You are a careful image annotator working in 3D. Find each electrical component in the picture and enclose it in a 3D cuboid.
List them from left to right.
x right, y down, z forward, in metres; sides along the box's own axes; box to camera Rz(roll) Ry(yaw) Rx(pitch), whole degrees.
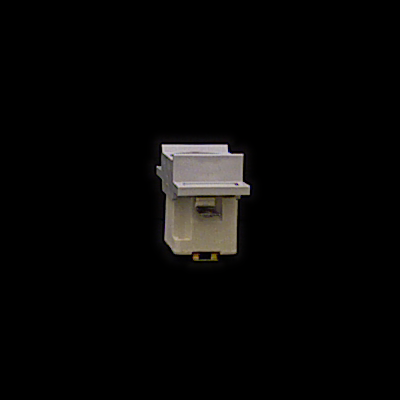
[{"bbox_3d":[0.000,0.000,0.646,0.042,0.064,0.080,-2,11,-10],"label":"electrical component"}]
